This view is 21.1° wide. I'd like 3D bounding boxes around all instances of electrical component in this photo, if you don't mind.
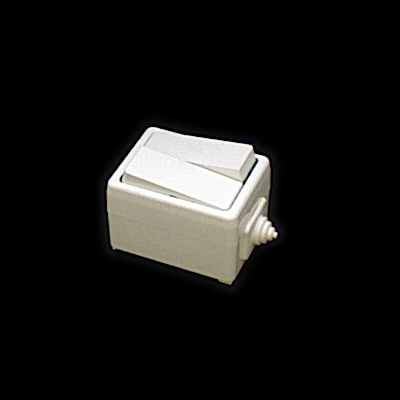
[{"bbox_3d":[0.000,0.000,0.630,0.096,0.061,0.061,16,44,16],"label":"electrical component"}]
